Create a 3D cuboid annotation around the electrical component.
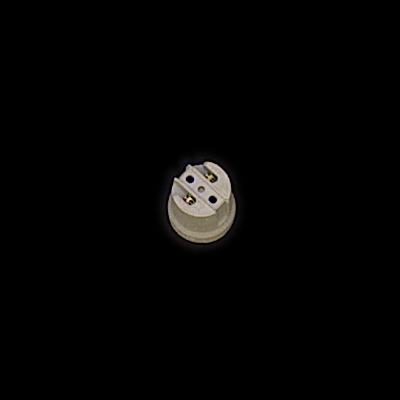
[{"bbox_3d":[0.000,0.000,0.633,0.040,0.040,0.046,0,-17,0],"label":"electrical component"}]
